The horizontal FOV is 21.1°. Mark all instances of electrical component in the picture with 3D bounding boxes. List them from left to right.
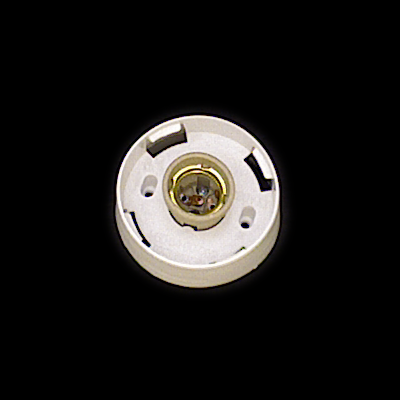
[{"bbox_3d":[0.000,0.000,0.625,0.099,0.099,0.064,0,-17,0],"label":"electrical component"}]
